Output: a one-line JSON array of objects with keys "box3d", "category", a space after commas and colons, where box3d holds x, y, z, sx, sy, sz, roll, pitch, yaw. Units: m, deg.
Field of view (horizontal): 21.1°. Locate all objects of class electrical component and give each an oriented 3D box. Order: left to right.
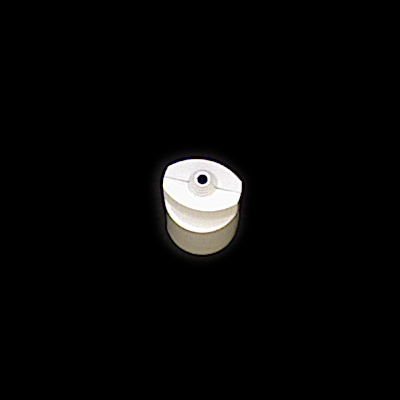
[{"box3d": [0.000, 0.000, 0.616, 0.043, 0.043, 0.080, 0, -17, 0], "category": "electrical component"}]
